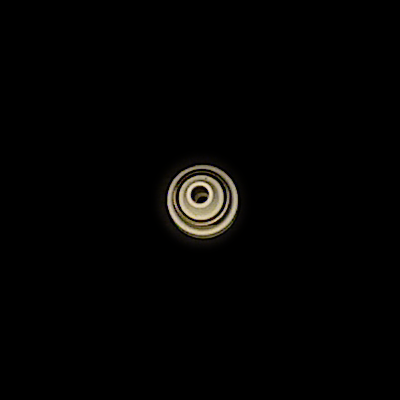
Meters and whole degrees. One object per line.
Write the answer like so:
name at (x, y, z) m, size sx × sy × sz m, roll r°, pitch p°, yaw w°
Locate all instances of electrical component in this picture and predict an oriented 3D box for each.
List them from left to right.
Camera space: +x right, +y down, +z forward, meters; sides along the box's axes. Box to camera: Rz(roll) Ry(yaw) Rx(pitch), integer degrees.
electrical component at (0.000, 0.000, 0.635) m, size 0.043 × 0.043 × 0.062 m, roll 0°, pitch -6°, yaw 2°
